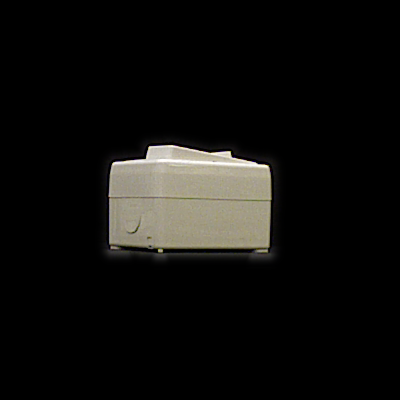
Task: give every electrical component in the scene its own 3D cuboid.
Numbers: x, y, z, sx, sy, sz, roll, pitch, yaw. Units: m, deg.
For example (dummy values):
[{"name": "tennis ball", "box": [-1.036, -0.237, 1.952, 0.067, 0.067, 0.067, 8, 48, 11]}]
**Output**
[{"name": "electrical component", "box": [0.000, 0.000, 0.651, 0.096, 0.061, 0.061, 1, 0, -33]}]
